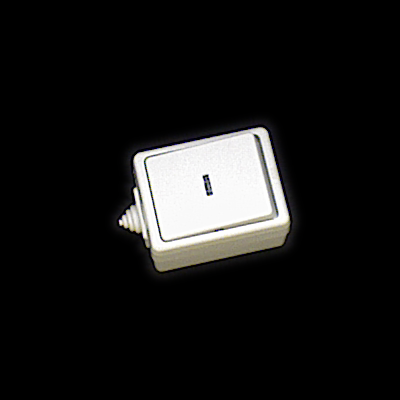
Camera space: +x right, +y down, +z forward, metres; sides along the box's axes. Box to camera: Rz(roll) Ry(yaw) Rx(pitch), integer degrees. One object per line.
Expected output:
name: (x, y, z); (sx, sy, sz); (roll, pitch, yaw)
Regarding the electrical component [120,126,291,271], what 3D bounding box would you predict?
electrical component: (0.000, 0.000, 0.626); (0.096, 0.062, 0.060); (-12, -17, -4)
